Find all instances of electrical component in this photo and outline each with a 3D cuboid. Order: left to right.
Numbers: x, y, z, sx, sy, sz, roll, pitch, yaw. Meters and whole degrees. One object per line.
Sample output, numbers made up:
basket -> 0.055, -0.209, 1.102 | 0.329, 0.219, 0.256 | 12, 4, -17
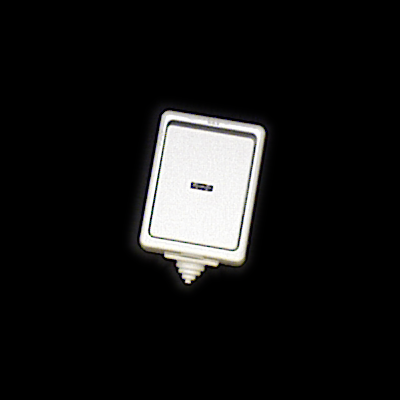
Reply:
electrical component -> 0.000, 0.000, 0.626 | 0.062, 0.096, 0.061 | 10, -7, 2
